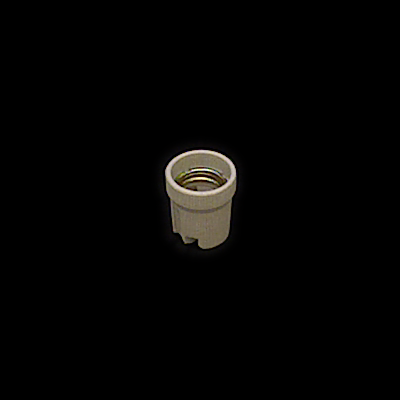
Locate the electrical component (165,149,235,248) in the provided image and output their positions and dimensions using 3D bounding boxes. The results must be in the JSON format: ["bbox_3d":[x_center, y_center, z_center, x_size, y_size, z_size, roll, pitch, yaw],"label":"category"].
[{"bbox_3d":[0.000,0.000,0.632,0.040,0.047,0.039,1,42,0],"label":"electrical component"}]
